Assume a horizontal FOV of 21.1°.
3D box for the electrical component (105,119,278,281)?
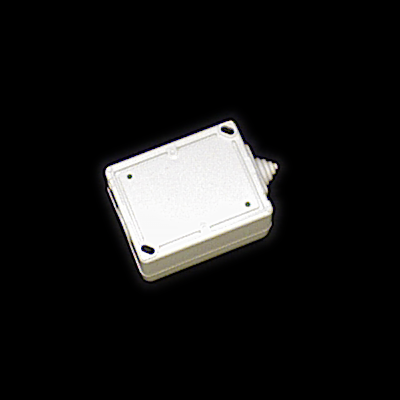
[{"bbox_3d":[0.000,0.000,0.627,0.096,0.062,0.061,-21,-16,-6],"label":"electrical component"}]
